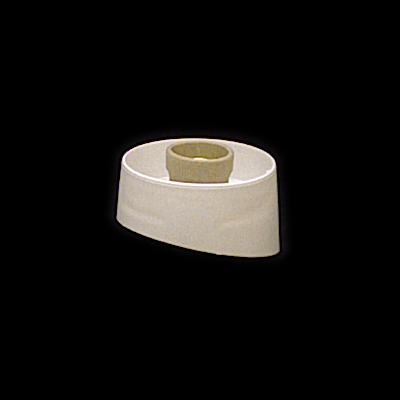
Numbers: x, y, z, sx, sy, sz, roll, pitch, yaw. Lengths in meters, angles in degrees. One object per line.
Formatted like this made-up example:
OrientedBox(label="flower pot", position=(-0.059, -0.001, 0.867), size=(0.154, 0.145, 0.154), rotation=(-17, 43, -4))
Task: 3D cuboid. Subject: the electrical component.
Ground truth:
OrientedBox(label="electrical component", position=(0.000, 0.000, 0.637), size=(0.099, 0.065, 0.097), rotation=(1, 20, 0))
